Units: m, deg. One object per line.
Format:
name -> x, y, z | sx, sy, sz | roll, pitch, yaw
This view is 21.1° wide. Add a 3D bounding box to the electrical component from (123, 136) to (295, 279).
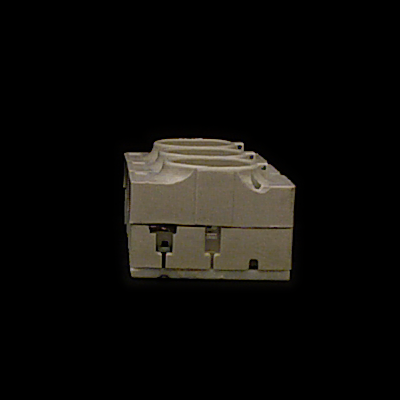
electrical component -> 0.000, 0.000, 0.651 | 0.089, 0.062, 0.148 | 1, 10, -6
